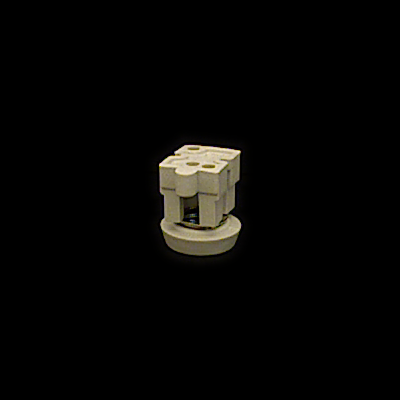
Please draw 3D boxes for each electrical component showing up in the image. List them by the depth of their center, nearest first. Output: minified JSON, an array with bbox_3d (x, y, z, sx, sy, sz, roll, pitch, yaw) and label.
[{"bbox_3d":[0.000,0.000,0.646,0.048,0.056,0.066,7,22,18],"label":"electrical component"}]
